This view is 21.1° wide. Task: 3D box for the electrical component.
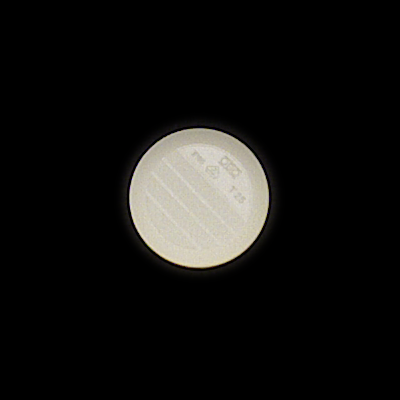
[{"bbox_3d":[0.000,0.000,0.631,0.080,0.080,0.050,0,-6,0],"label":"electrical component"}]
